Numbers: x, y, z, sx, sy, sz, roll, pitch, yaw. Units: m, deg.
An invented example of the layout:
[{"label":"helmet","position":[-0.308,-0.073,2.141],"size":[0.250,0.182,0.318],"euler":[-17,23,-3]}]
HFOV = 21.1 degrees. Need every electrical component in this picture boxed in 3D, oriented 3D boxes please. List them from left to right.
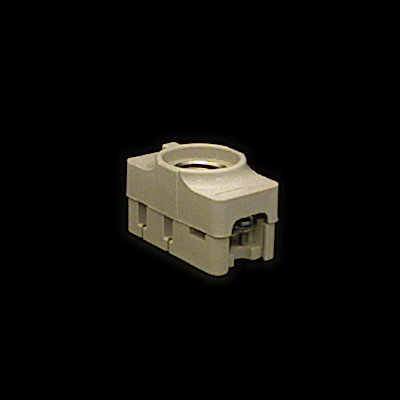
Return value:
[{"label":"electrical component","position":[0.000,0.000,0.647],"size":[0.050,0.056,0.088],"euler":[-17,28,-37]}]
